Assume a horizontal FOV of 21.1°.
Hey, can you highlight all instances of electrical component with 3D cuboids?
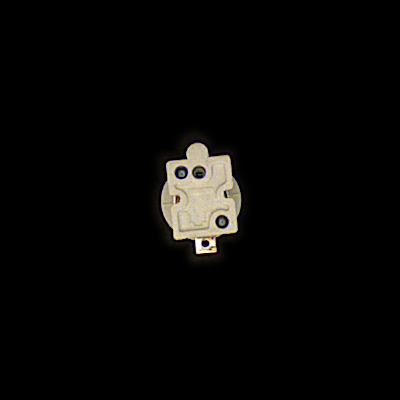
[{"bbox_3d":[0.000,0.000,0.639,0.048,0.066,0.055,-6,-5,-1],"label":"electrical component"}]
